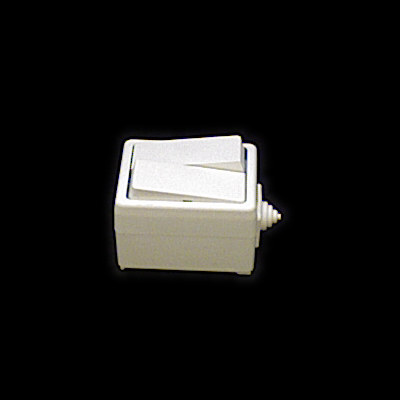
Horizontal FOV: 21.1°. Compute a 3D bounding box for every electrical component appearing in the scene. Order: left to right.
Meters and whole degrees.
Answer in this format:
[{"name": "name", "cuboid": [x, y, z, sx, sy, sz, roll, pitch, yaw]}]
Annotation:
[{"name": "electrical component", "cuboid": [0.000, 0.000, 0.631, 0.096, 0.061, 0.061, 2, 42, 2]}]
